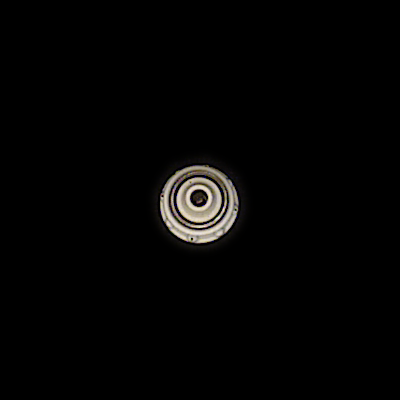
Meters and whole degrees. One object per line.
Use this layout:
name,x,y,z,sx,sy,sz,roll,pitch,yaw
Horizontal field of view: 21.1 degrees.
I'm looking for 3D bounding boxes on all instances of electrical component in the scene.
electrical component,0.000,0.000,0.635,0.048,0.048,0.062,0,-4,0
